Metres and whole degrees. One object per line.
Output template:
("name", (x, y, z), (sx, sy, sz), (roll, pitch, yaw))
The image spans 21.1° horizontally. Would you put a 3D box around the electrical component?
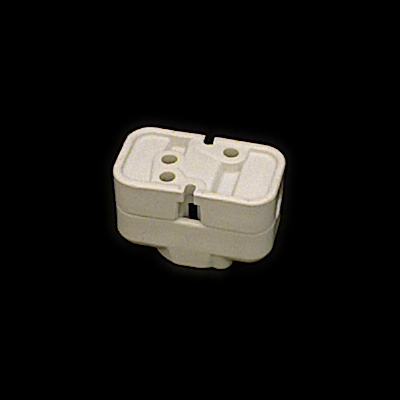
("electrical component", (0.000, 0.000, 0.636), (0.095, 0.060, 0.053), (10, 43, 9))
